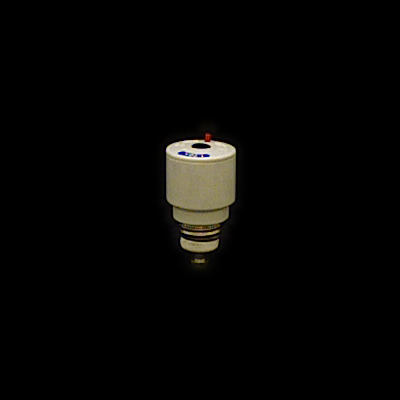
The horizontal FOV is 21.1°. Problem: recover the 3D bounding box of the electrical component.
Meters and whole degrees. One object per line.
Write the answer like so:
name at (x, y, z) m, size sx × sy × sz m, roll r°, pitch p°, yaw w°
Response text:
electrical component at (0.000, 0.000, 0.637) m, size 0.040 × 0.079 × 0.039 m, roll 1°, pitch 21°, yaw 0°
